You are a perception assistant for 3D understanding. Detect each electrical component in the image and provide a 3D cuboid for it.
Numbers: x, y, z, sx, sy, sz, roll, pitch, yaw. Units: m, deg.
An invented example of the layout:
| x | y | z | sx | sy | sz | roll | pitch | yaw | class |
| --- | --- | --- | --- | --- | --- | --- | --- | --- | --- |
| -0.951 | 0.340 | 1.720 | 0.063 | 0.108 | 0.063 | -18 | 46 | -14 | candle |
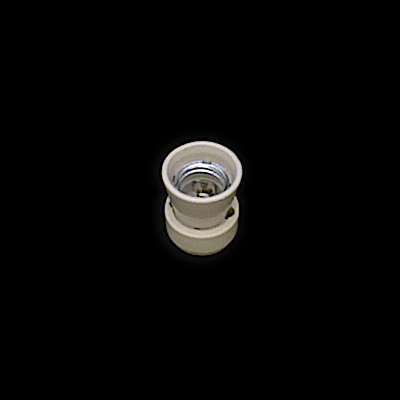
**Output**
| x | y | z | sx | sy | sz | roll | pitch | yaw | class |
| --- | --- | --- | --- | --- | --- | --- | --- | --- | --- |
| 0.000 | 0.000 | 0.630 | 0.045 | 0.044 | 0.055 | 0 | -38 | -1 | electrical component |
